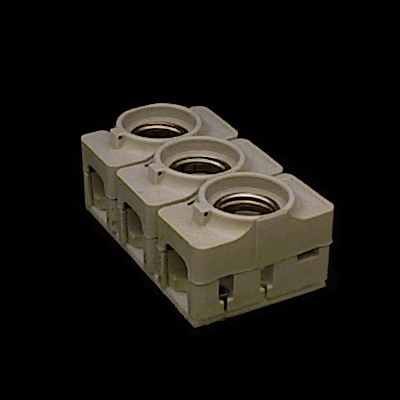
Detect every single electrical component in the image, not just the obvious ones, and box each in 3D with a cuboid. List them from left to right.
[{"bbox_3d":[0.000,0.000,0.639,0.089,0.063,0.147,-16,35,-25],"label":"electrical component"}]
